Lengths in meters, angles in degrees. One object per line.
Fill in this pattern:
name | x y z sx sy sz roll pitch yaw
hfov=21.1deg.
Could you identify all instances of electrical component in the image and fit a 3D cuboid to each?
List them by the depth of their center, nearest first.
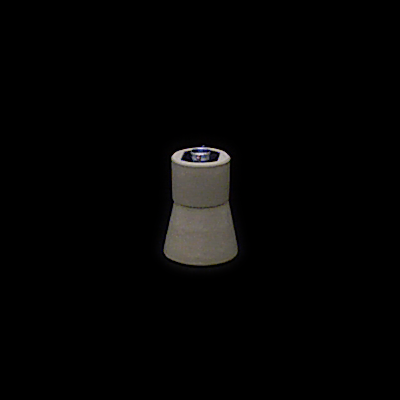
electrical component | 0.000 0.000 0.639 0.044 0.066 0.044 0 22 0
